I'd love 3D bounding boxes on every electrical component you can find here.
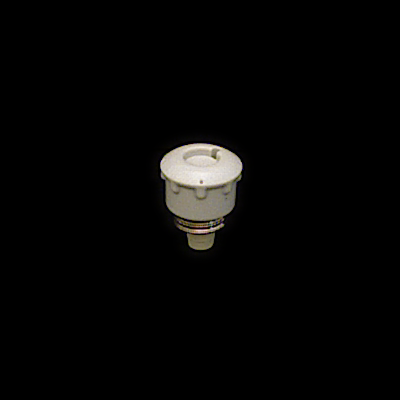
[{"bbox_3d":[0.000,0.000,0.643,0.048,0.063,0.047,1,32,0],"label":"electrical component"}]
